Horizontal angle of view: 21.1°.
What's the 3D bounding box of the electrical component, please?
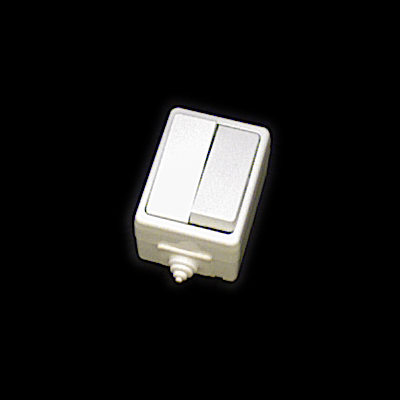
[{"bbox_3d":[0.000,0.000,0.625,0.062,0.097,0.060,14,-27,7],"label":"electrical component"}]
